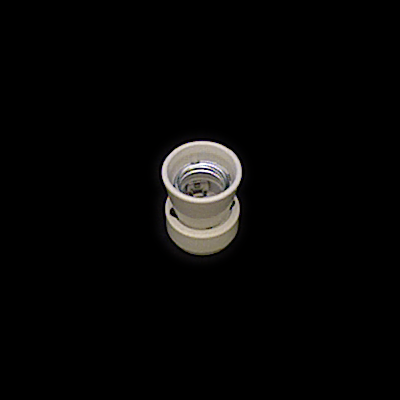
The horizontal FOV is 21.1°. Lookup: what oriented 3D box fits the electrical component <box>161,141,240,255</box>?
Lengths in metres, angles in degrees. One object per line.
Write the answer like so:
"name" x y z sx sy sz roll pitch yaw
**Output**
"electrical component" 0.000 0.000 0.630 0.045 0.044 0.055 0 -38 0
